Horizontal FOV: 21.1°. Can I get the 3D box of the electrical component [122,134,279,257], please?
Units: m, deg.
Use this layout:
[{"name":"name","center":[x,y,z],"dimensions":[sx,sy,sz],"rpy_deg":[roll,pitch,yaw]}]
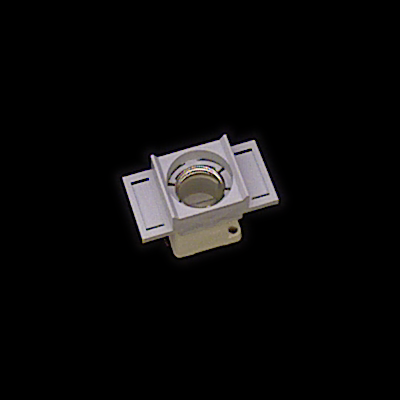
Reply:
[{"name":"electrical component","center":[0.000,0.000,0.625],"dimensions":[0.081,0.042,0.064],"rpy_deg":[-16,-27,-8]}]
